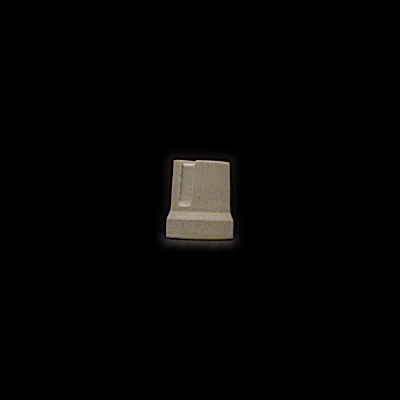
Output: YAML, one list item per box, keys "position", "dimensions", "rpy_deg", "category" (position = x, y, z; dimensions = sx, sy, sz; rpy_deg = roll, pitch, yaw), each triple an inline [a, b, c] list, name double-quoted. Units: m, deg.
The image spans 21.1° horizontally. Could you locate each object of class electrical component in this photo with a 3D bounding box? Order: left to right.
- position: [0.000, 0.000, 0.651]
  dimensions: [0.040, 0.046, 0.040]
  rpy_deg: [2, 2, 0]
  category: "electrical component"
